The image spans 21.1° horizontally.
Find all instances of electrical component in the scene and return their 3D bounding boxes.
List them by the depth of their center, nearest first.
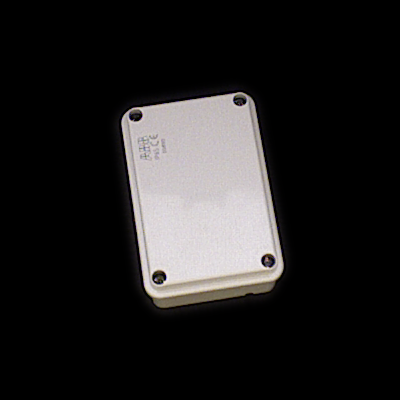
[{"bbox_3d":[0.000,0.000,0.627,0.078,0.113,0.057,-9,-16,-2],"label":"electrical component"}]
